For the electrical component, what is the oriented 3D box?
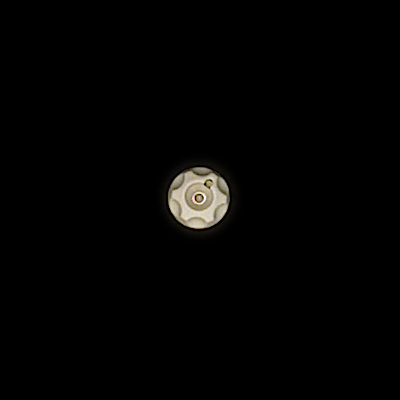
[{"bbox_3d":[0.000,0.000,0.635,0.035,0.035,0.061,0,-5,0],"label":"electrical component"}]
